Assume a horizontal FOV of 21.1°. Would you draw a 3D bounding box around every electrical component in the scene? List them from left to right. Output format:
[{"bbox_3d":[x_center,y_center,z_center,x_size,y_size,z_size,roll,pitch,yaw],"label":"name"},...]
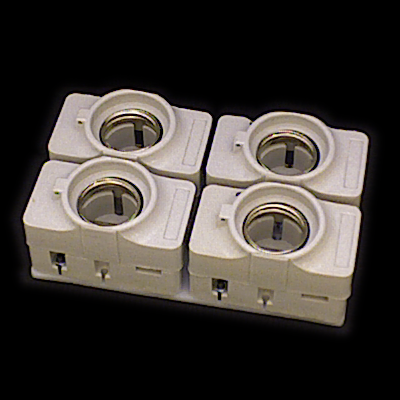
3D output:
[{"bbox_3d":[0.000,0.000,0.627,0.186,0.105,0.060,9,-37,6],"label":"electrical component"}]
